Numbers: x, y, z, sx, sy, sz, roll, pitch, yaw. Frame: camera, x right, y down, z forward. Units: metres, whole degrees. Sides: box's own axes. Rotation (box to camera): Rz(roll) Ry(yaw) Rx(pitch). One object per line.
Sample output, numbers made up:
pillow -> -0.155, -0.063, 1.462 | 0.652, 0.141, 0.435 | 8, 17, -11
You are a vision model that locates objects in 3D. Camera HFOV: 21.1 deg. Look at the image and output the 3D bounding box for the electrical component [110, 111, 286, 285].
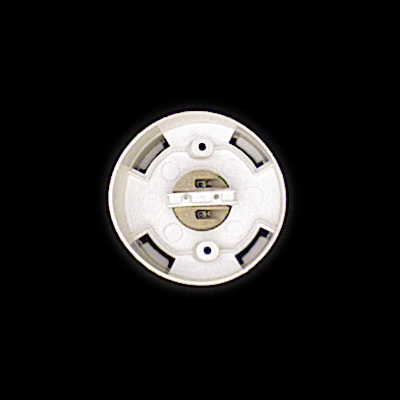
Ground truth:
electrical component -> 0.000, 0.000, 0.624 | 0.099, 0.099, 0.064 | 0, -6, 1
